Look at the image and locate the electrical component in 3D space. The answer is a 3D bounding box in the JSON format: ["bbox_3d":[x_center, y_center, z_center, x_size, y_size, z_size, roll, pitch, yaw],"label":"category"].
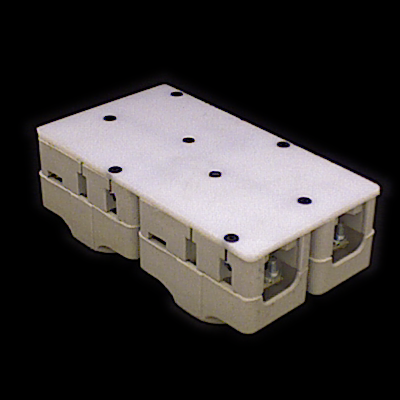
[{"bbox_3d":[0.000,0.000,0.633,0.105,0.061,0.184,-25,40,-36],"label":"electrical component"}]
